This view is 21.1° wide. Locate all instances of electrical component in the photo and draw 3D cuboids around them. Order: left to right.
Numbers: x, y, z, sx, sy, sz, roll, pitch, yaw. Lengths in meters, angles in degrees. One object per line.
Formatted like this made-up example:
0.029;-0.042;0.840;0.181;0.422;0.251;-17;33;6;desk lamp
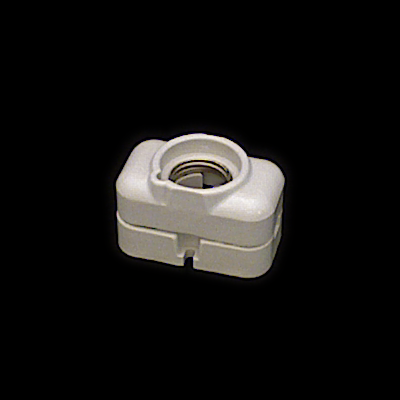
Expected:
0.000;0.000;0.637;0.095;0.060;0.053;10;43;11;electrical component
